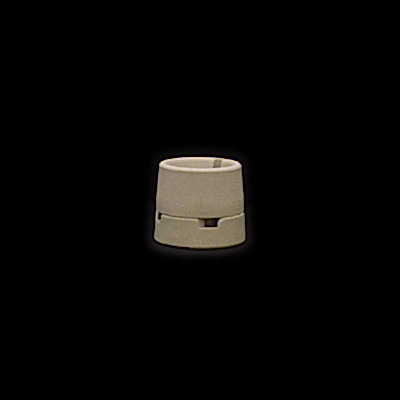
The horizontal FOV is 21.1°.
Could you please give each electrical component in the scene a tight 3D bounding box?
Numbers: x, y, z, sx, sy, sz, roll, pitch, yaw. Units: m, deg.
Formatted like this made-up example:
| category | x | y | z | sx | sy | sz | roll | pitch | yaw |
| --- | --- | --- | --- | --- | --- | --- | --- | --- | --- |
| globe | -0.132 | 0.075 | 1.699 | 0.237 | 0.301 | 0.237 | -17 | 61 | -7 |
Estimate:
| category | x | y | z | sx | sy | sz | roll | pitch | yaw |
| --- | --- | --- | --- | --- | --- | --- | --- | --- | --- |
| electrical component | 0.000 | 0.000 | 0.644 | 0.055 | 0.047 | 0.055 | 0 | 11 | 0 |
